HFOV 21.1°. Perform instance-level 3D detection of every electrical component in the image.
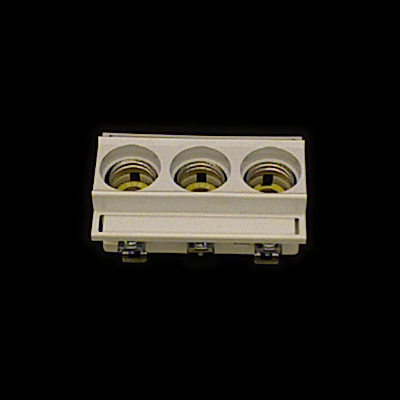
[{"bbox_3d":[0.000,0.000,0.640,0.121,0.078,0.063,1,-39,1],"label":"electrical component"}]
